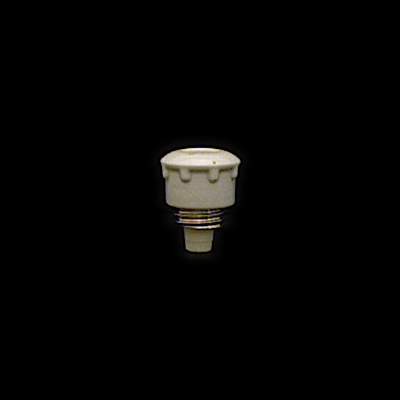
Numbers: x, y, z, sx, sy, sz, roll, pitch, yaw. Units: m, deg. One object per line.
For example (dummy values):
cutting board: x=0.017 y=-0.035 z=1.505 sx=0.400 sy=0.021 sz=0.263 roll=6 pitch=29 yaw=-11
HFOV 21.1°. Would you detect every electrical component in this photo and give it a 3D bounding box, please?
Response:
electrical component: x=0.000 y=0.000 z=0.650 sx=0.048 sy=0.062 sz=0.048 roll=1 pitch=11 yaw=0
